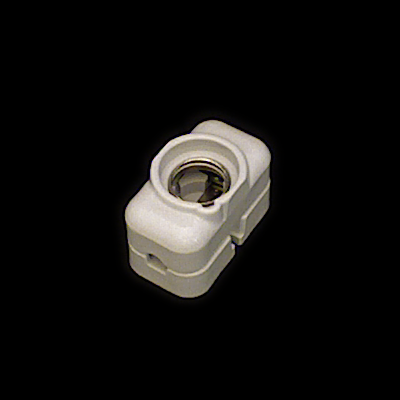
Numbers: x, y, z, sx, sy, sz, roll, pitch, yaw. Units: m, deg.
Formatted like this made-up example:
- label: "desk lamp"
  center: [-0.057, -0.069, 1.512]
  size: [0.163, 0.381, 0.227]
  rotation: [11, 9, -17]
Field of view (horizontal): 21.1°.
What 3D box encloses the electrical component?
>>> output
- label: "electrical component"
  center: [0.000, 0.000, 0.635]
  size: [0.053, 0.095, 0.059]
  rotation: [27, -32, 19]
